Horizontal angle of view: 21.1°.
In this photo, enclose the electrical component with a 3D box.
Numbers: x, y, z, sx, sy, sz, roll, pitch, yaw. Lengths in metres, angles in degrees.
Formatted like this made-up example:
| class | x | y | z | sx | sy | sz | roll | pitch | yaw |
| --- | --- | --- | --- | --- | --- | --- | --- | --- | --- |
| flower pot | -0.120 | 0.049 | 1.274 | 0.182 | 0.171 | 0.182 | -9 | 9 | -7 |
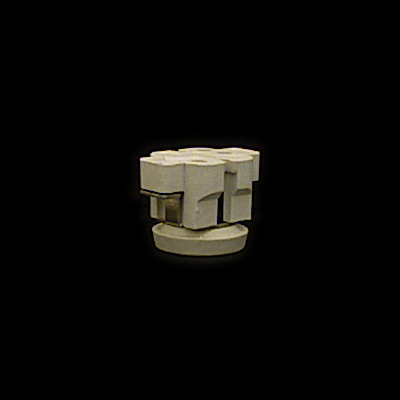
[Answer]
| class | x | y | z | sx | sy | sz | roll | pitch | yaw |
| --- | --- | --- | --- | --- | --- | --- | --- | --- | --- |
| electrical component | 0.000 | 0.000 | 0.649 | 0.079 | 0.057 | 0.057 | -11 | 17 | -41 |
